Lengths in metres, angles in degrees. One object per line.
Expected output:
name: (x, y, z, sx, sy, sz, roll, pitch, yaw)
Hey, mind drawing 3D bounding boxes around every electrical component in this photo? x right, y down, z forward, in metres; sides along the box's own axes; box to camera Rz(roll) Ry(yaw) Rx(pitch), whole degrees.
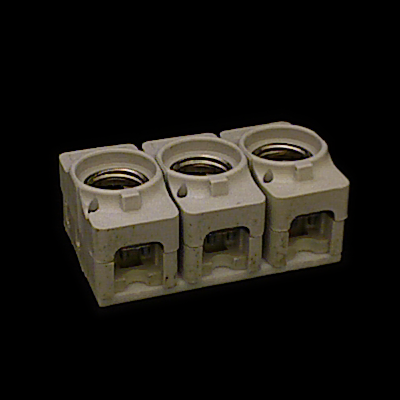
electrical component: (0.000, 0.000, 0.639, 0.150, 0.063, 0.087, -10, 33, -17)
